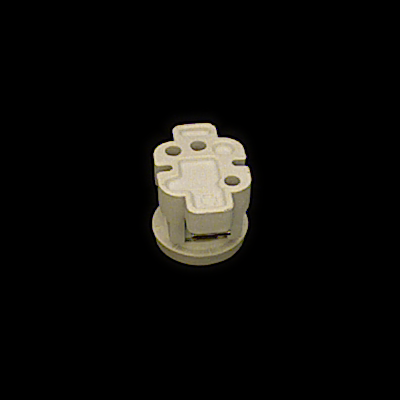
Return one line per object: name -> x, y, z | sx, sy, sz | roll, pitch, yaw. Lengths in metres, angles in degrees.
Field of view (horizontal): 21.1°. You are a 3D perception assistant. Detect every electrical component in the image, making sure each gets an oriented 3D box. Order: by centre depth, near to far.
electrical component -> 0.000, 0.000, 0.638 | 0.058, 0.057, 0.077 | -5, 44, -7
